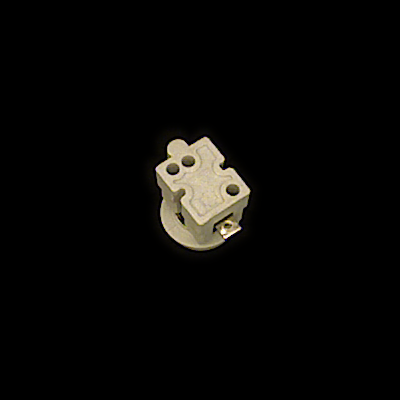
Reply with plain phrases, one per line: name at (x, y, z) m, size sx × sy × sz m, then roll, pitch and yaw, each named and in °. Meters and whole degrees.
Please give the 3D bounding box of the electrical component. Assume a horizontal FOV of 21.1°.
electrical component at (0.000, 0.000, 0.637) m, size 0.049 × 0.066 × 0.055 m, roll -32°, pitch -21°, yaw -16°
